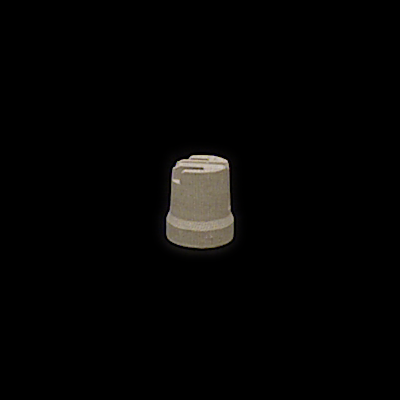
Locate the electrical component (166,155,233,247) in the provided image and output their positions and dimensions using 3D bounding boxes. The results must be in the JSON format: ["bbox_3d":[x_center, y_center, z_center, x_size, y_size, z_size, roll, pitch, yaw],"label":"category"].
[{"bbox_3d":[0.000,0.000,0.642,0.040,0.046,0.040,1,21,0],"label":"electrical component"}]
